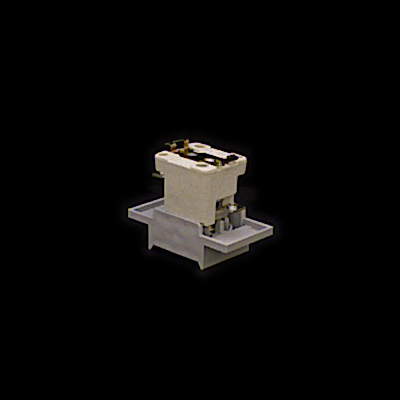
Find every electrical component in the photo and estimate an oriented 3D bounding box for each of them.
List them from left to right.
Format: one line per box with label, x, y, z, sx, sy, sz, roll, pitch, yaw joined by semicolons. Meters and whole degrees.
electrical component;0.000;0.000;0.638;0.080;0.064;0.042;18;27;38
